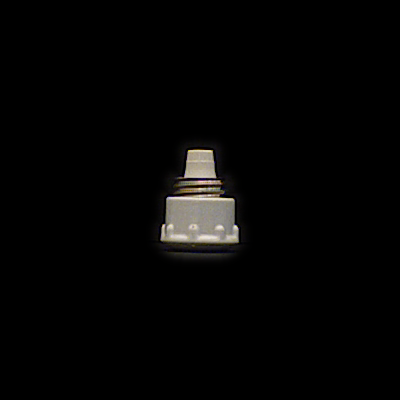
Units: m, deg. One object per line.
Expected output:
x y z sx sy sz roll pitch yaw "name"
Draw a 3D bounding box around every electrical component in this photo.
0.000 0.000 0.656 0.048 0.062 0.048 1 1 1 "electrical component"
